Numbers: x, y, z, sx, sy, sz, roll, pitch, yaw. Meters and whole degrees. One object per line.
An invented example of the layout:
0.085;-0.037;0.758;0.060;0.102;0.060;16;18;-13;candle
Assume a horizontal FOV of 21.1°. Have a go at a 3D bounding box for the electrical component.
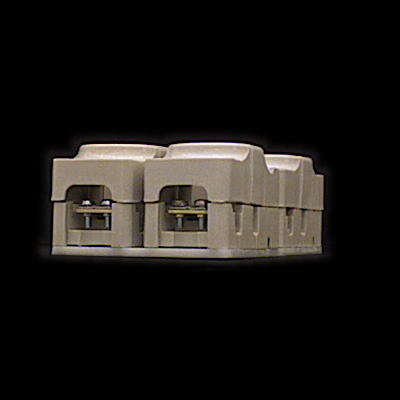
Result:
0.000;0.000;0.650;0.105;0.060;0.187;1;-1;22;electrical component
